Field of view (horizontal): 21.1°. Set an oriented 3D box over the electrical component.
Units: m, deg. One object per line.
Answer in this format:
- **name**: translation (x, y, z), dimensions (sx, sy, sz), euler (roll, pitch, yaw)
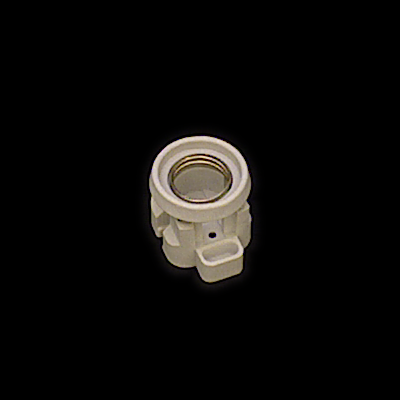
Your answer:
- **electrical component**: translation (0.000, 0.000, 0.630), dimensions (0.058, 0.078, 0.057), euler (-18, -35, -14)
